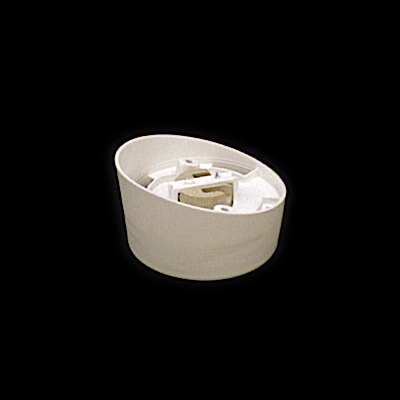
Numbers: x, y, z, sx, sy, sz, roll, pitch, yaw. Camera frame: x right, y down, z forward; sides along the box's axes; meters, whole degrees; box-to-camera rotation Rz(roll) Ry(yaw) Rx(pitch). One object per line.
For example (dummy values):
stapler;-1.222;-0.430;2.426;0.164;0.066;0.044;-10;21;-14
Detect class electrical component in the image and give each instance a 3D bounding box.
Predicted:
electrical component;0.000;0.000;0.632;0.099;0.065;0.097;0;32;0
